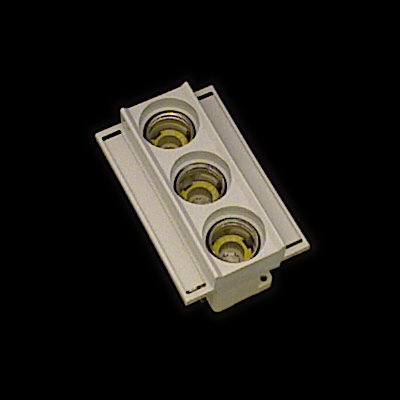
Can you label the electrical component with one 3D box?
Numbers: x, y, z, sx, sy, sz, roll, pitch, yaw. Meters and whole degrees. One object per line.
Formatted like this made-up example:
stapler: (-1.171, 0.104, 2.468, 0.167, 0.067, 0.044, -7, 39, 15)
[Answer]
electrical component: (0.000, 0.000, 0.638, 0.079, 0.121, 0.063, -24, -24, -13)
